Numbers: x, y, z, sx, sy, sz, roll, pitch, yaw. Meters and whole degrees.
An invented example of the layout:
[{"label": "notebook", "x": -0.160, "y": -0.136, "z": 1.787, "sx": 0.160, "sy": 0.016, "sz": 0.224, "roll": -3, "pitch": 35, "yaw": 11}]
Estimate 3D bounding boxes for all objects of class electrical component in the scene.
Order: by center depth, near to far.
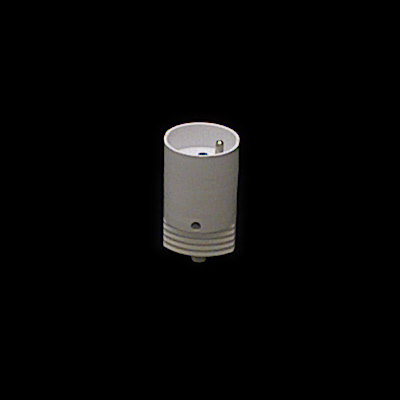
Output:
[{"label": "electrical component", "x": 0.000, "y": 0.000, "z": 0.630, "sx": 0.043, "sy": 0.082, "sz": 0.042, "roll": 1, "pitch": 32, "yaw": -1}]
